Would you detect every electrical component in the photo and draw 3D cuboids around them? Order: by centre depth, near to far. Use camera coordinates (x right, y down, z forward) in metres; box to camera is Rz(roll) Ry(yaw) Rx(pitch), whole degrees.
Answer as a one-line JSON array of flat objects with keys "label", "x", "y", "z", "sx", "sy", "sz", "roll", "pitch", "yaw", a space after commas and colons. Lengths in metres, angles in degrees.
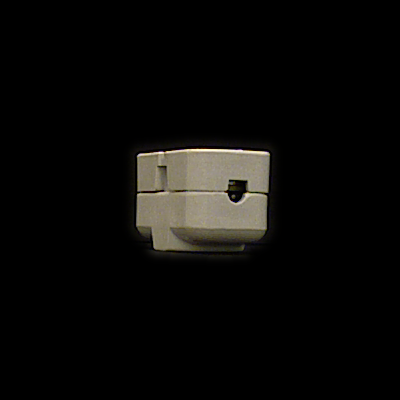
[{"label": "electrical component", "x": 0.000, "y": 0.000, "z": 0.659, "sx": 0.054, "sy": 0.059, "sz": 0.094, "roll": 1, "pitch": 0, "yaw": -28}]
